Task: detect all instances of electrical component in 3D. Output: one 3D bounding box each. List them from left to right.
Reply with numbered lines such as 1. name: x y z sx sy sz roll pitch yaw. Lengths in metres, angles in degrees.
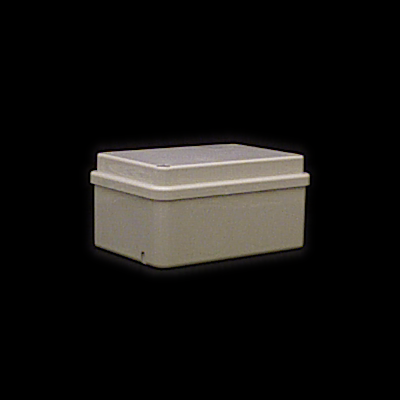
1. electrical component: 0.000 0.000 0.646 0.113 0.057 0.077 -7 13 -36
